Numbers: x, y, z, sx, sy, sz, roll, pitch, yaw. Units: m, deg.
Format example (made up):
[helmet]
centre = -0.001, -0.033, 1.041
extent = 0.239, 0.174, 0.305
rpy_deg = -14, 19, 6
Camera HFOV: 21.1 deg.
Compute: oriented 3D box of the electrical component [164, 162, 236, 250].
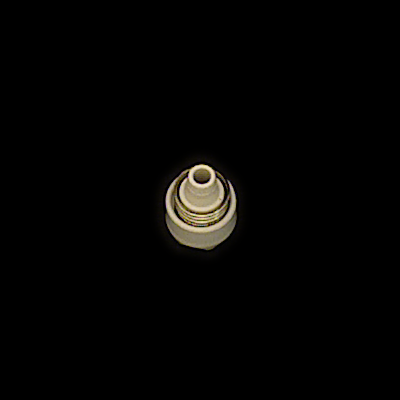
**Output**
[electrical component]
centre = 0.000, 0.000, 0.634
extent = 0.043, 0.043, 0.062
rpy_deg = 0, -27, -1
